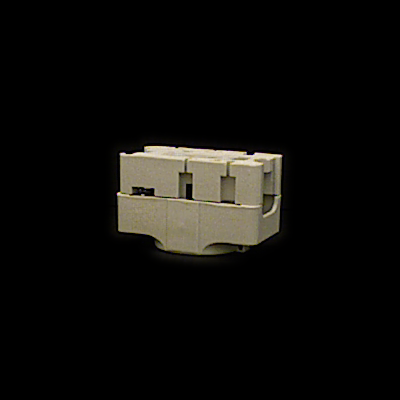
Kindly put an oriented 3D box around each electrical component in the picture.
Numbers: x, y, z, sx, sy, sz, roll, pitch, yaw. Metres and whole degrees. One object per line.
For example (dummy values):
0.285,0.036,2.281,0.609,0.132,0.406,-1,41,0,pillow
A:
0.000,0.000,0.652,0.089,0.056,0.050,6,12,21,electrical component
